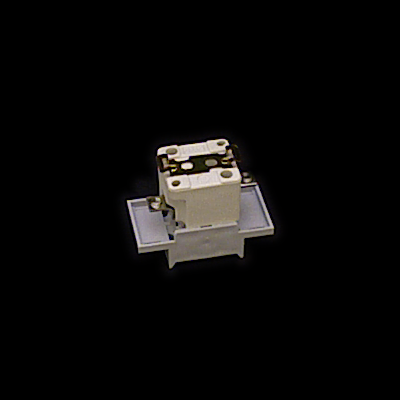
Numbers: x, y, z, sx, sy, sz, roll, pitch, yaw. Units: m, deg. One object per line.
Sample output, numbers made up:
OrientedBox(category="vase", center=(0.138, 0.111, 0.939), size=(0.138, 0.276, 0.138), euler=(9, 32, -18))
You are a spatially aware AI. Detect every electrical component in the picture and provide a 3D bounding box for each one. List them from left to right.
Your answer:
OrientedBox(category="electrical component", center=(0.000, 0.000, 0.629), size=(0.081, 0.064, 0.042), euler=(-8, 43, -10))
